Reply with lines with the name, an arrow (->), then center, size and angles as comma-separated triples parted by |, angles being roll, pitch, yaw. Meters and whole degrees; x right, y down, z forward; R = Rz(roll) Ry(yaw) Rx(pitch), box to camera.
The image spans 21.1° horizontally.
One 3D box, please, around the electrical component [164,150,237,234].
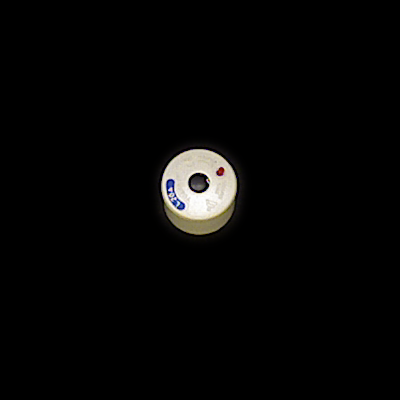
electrical component -> 0.000, 0.000, 0.617 | 0.040, 0.040, 0.078 | 0, -17, -1
